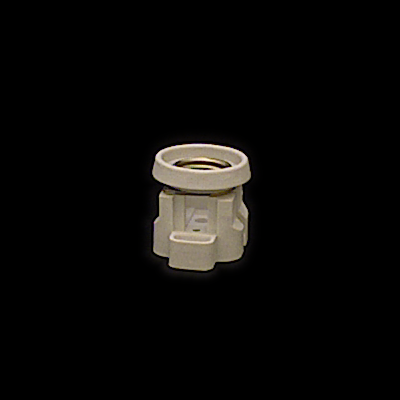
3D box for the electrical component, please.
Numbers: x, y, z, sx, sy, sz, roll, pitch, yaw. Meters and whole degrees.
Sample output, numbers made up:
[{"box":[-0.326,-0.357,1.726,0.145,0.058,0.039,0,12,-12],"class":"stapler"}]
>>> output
[{"box":[0.000,0.000,0.641,0.058,0.057,0.077,5,21,9],"class":"electrical component"}]
